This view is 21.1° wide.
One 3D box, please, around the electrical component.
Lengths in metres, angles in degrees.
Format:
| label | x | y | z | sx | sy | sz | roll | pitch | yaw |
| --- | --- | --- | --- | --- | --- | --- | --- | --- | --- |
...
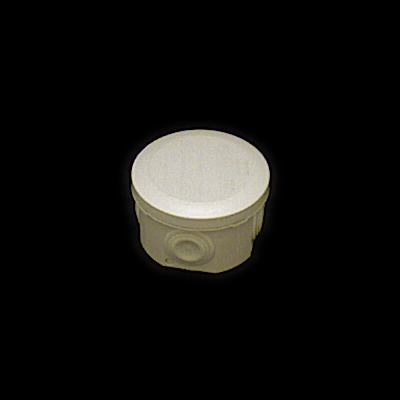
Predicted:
| label | x | y | z | sx | sy | sz | roll | pitch | yaw |
| --- | --- | --- | --- | --- | --- | --- | --- | --- | --- |
| electrical component | 0.000 | 0.000 | 0.631 | 0.080 | 0.051 | 0.080 | 0 | 42 | 0 |
